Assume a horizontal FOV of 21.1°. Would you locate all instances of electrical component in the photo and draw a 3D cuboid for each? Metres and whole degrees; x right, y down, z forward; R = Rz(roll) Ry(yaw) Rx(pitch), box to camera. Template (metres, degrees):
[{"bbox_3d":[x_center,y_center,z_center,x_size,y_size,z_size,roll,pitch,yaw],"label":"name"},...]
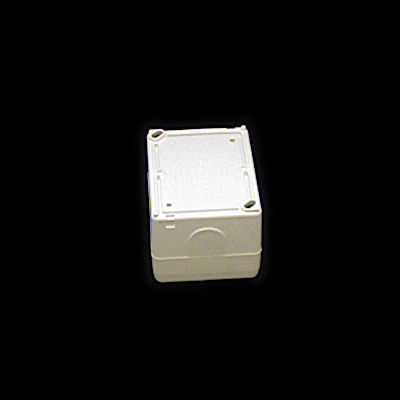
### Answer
[{"bbox_3d":[0.000,0.000,0.636,0.062,0.061,0.095,-3,42,-3],"label":"electrical component"}]
